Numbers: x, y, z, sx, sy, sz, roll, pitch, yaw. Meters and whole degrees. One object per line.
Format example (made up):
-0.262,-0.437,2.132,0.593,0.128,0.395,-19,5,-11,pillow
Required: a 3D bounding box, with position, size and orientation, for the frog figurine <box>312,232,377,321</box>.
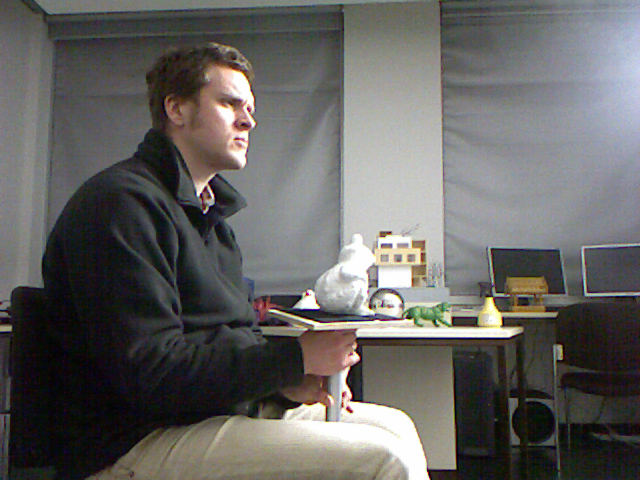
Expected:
0.049,0.064,0.976,0.123,0.159,0.137,2,1,-9,frog figurine
